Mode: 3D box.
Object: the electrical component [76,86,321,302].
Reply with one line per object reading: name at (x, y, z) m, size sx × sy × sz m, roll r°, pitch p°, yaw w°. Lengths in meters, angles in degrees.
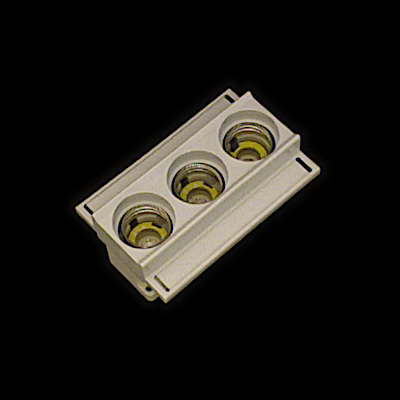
electrical component at (0.000, 0.000, 0.637) m, size 0.122 × 0.078 × 0.063 m, roll -39°, pitch -22°, yaw -17°
